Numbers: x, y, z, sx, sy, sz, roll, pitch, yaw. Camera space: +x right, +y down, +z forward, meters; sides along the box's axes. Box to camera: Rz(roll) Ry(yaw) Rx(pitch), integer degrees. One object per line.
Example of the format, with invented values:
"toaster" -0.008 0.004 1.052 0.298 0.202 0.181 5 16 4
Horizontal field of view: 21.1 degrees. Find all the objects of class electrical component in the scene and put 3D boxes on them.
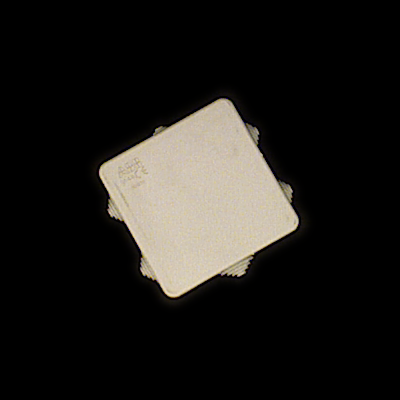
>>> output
"electrical component" 0.000 0.000 0.642 0.100 0.100 0.048 -29 -5 -3
